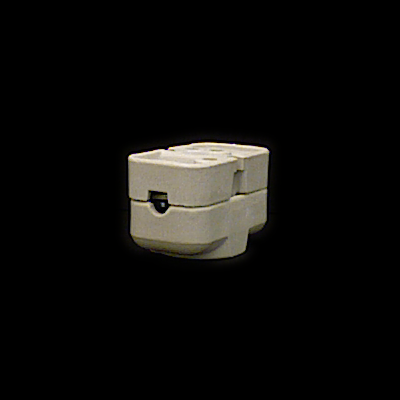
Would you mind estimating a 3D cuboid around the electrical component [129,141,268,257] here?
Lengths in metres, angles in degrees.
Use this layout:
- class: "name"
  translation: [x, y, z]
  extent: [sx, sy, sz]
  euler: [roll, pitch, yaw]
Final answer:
- class: "electrical component"
  translation: [0.000, 0.000, 0.651]
  extent: [0.053, 0.060, 0.095]
  euler: [8, 13, 30]
